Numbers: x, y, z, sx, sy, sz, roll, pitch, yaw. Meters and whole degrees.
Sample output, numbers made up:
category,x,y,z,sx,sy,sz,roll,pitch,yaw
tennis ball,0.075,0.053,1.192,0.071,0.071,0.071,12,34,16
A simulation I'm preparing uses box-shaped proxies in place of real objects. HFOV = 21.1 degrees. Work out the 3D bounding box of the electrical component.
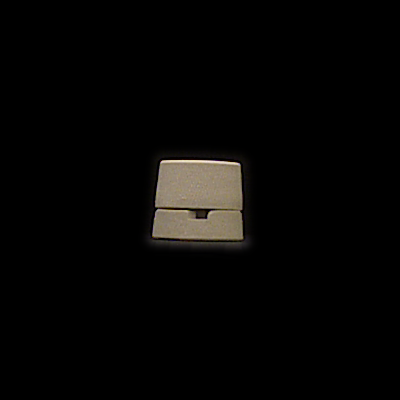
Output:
category,x,y,z,sx,sy,sz,roll,pitch,yaw
electrical component,0.000,0.000,0.651,0.055,0.047,0.055,2,0,0
